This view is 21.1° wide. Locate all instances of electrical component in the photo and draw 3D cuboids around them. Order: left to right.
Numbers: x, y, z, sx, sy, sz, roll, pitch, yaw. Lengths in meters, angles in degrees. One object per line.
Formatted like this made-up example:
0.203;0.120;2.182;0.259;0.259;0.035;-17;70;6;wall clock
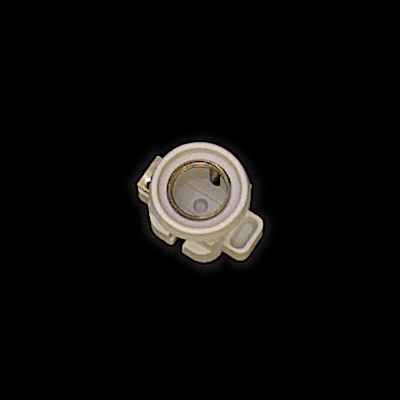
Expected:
0.000;0.000;0.628;0.078;0.058;0.056;32;-14;9;electrical component
